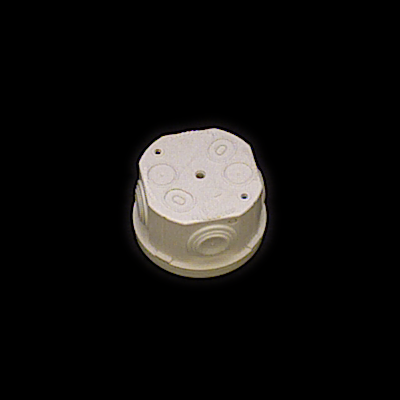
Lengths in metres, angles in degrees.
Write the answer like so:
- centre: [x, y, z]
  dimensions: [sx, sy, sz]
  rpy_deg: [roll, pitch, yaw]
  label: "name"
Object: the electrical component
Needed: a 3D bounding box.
- centre: [0.000, 0.000, 0.632]
  dimensions: [0.080, 0.080, 0.051]
  rpy_deg: [0, -37, -1]
  label: "electrical component"
